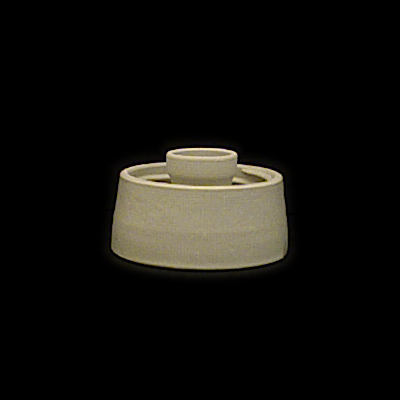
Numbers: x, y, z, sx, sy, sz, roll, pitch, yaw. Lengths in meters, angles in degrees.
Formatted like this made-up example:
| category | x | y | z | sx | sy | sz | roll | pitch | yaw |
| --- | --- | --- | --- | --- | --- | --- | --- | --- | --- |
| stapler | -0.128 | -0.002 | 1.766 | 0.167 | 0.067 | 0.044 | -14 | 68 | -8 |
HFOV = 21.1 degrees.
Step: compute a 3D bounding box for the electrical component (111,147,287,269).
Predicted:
| category | x | y | z | sx | sy | sz | roll | pitch | yaw |
| --- | --- | --- | --- | --- | --- | --- | --- | --- | --- |
| electrical component | 0.000 | 0.000 | 0.651 | 0.108 | 0.061 | 0.107 | 1 | 11 | 0 |
